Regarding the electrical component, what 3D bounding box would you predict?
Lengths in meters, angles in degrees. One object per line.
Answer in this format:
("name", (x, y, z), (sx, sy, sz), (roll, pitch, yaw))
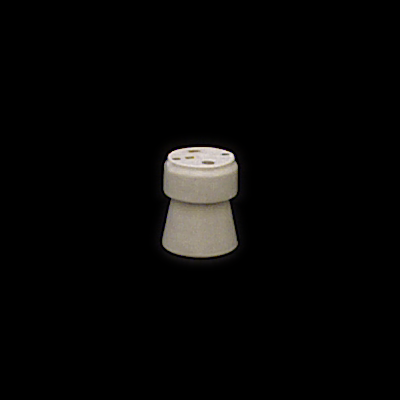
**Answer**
("electrical component", (0.000, 0.000, 0.641), (0.045, 0.056, 0.044), (1, 21, 0))
